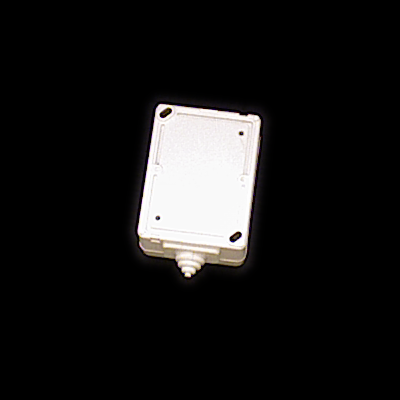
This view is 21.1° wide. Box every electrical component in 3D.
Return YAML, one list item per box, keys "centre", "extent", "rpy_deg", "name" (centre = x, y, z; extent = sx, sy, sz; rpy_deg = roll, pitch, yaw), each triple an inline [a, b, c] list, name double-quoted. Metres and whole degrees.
- centre: [0.000, 0.000, 0.627]
  extent: [0.062, 0.097, 0.060]
  rpy_deg: [7, -16, 2]
  name: "electrical component"
